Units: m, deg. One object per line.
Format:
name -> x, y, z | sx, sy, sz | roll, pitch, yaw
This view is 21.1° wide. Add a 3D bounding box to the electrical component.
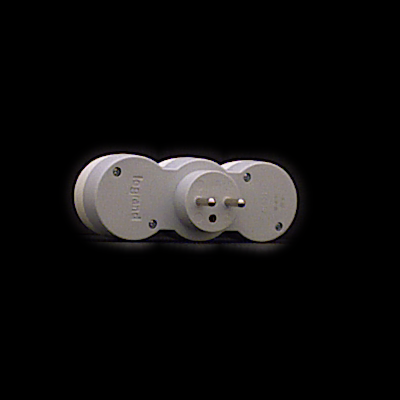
electrical component -> 0.000, 0.000, 0.652 | 0.138, 0.052, 0.073 | 2, 2, -26
